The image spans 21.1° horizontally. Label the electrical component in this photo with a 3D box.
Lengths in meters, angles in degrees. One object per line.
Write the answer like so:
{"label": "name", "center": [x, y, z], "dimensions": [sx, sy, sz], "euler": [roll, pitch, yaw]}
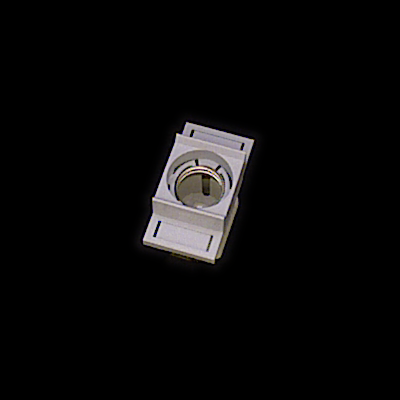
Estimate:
{"label": "electrical component", "center": [0.000, 0.000, 0.623], "dimensions": [0.042, 0.081, 0.063], "euler": [16, -26, 7]}
